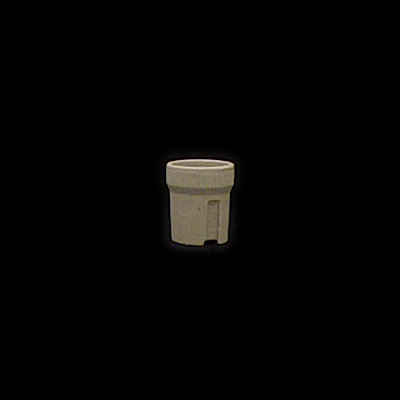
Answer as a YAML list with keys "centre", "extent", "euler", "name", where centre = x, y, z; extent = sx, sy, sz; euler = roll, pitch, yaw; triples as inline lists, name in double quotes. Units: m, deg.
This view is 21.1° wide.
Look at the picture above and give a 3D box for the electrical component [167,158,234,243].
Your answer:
- centre: [0.000, 0.000, 0.646]
  extent: [0.040, 0.046, 0.040]
  euler: [1, 11, 0]
  name: "electrical component"
